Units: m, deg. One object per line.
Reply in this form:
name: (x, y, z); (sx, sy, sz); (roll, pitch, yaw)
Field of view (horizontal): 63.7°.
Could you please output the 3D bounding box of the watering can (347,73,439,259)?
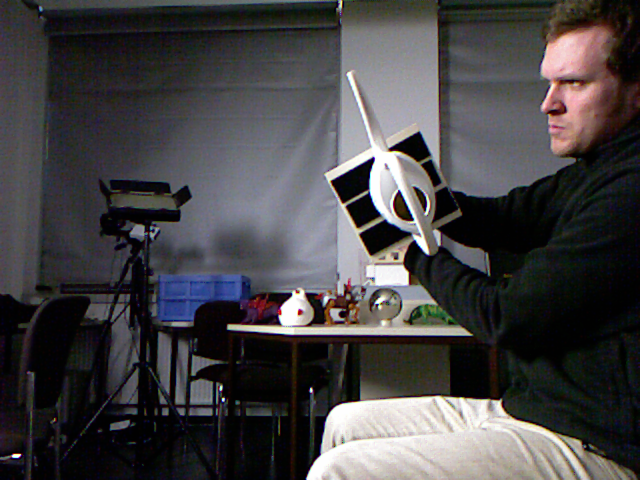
watering can: (0.128, -0.130, 0.942); (0.104, 0.348, 0.227); (-25, 7, 0)
